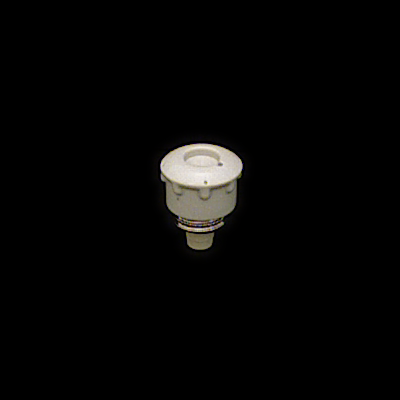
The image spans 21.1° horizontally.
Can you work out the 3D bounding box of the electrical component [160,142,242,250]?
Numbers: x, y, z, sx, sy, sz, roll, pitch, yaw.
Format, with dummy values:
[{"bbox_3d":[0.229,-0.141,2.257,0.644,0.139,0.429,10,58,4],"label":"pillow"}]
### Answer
[{"bbox_3d":[0.000,0.000,0.643,0.048,0.063,0.047,1,32,0],"label":"electrical component"}]
